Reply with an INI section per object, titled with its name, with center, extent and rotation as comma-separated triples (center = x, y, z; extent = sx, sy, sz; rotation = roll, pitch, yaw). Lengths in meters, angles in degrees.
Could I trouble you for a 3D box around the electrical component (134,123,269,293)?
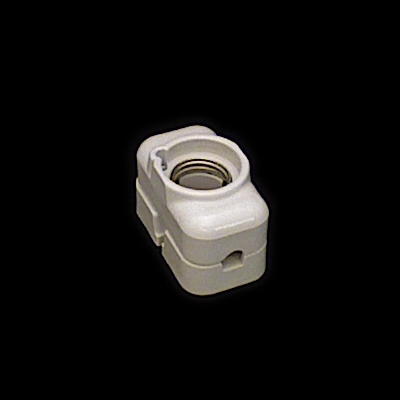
[electrical component]
center = 0.000, 0.000, 0.637
extent = 0.054, 0.060, 0.094
rotation = -17, 45, -19
